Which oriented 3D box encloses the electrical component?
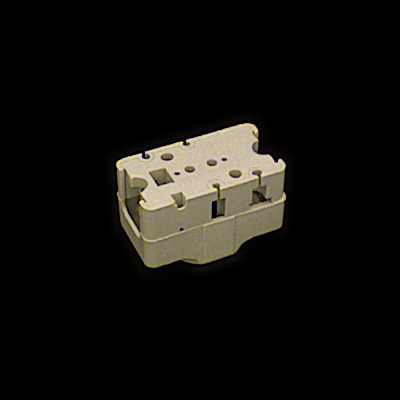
[{"bbox_3d":[0.000,0.000,0.639,0.090,0.056,0.049,-18,46,-18],"label":"electrical component"}]
